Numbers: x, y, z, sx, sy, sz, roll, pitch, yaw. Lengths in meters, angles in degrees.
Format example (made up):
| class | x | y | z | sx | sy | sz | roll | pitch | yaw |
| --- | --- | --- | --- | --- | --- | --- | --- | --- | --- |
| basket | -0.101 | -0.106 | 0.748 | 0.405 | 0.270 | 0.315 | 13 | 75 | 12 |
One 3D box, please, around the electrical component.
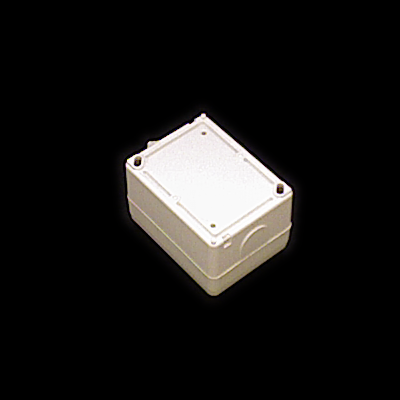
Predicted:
| class | x | y | z | sx | sy | sz | roll | pitch | yaw |
| --- | --- | --- | --- | --- | --- | --- | --- | --- | --- |
| electrical component | 0.000 | 0.000 | 0.631 | 0.062 | 0.061 | 0.096 | -34 | 59 | -24 |
